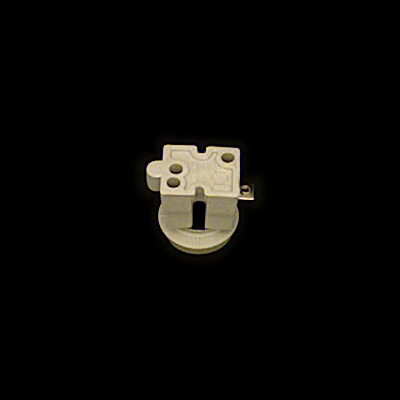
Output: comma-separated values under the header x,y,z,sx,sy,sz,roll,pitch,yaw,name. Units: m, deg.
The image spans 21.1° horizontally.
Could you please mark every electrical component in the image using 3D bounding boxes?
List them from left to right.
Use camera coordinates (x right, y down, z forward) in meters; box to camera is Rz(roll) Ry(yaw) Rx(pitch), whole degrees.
x,y,z,sx,sy,sz,roll,pitch,yaw,name
0.000,0.000,0.638,0.066,0.048,0.055,2,-38,0,electrical component
